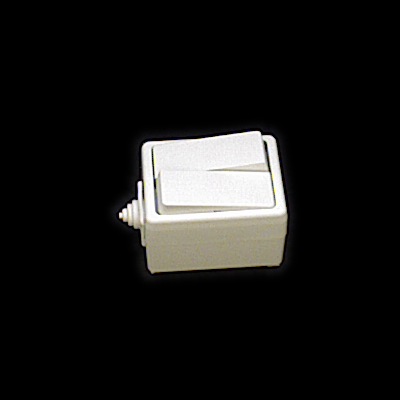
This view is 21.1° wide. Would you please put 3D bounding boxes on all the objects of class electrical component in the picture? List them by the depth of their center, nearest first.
[{"bbox_3d":[0.000,0.000,0.628,0.096,0.061,0.061,-3,-38,-3],"label":"electrical component"}]
